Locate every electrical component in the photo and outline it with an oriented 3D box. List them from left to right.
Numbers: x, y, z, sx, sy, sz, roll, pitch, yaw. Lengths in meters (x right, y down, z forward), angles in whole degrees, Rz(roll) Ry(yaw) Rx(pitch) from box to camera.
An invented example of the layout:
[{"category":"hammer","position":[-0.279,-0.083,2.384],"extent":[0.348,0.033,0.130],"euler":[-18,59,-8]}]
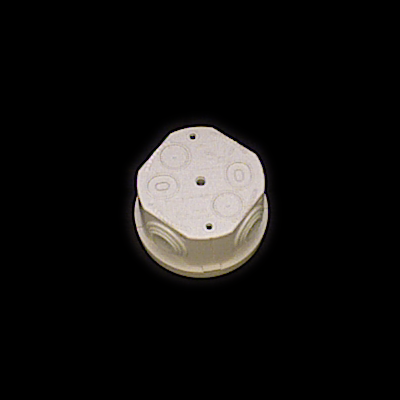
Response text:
[{"category":"electrical component","position":[0.000,0.000,0.632],"extent":[0.080,0.080,0.050],"euler":[0,-28,0]}]
